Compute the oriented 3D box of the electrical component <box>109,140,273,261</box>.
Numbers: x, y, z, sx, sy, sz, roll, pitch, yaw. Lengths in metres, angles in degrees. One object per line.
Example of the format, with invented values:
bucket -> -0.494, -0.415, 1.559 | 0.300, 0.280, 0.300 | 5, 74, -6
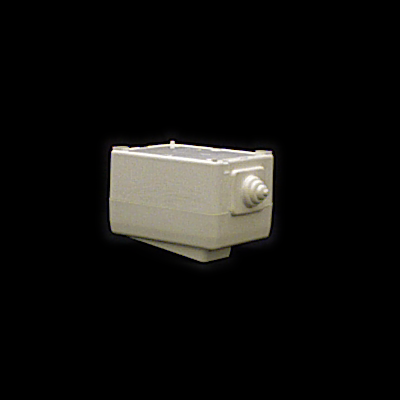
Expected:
electrical component -> 0.000, 0.000, 0.642 | 0.096, 0.061, 0.061 | 8, 12, 36
